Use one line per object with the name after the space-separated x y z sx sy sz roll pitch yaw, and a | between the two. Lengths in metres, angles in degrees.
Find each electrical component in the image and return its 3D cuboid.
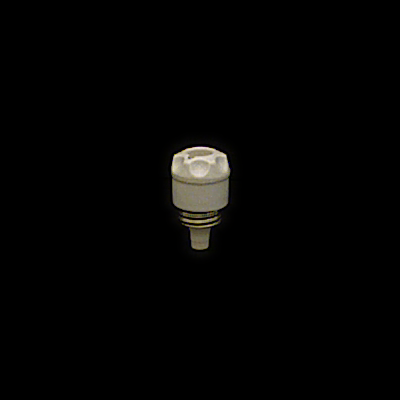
0.000 0.000 0.644 0.035 0.062 0.035 1 22 0 | electrical component
